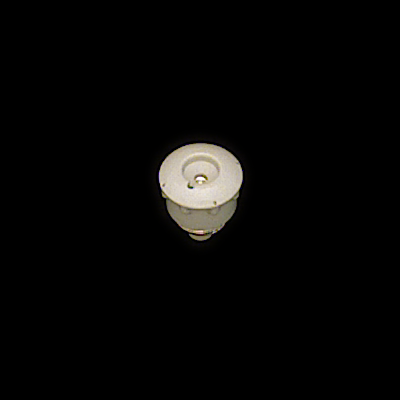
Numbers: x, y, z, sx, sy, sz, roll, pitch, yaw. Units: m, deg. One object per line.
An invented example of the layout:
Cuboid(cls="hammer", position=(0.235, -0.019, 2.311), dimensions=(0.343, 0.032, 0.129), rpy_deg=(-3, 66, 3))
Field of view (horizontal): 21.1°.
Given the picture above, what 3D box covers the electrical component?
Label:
Cuboid(cls="electrical component", position=(0.000, 0.000, 0.634), dimensions=(0.048, 0.048, 0.062), rpy_deg=(0, -37, 0))
